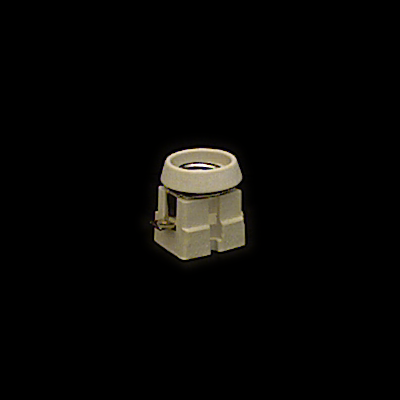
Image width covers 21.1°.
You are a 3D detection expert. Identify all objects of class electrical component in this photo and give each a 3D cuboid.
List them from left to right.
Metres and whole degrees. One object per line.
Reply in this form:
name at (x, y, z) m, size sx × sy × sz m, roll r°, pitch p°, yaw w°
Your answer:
electrical component at (0.000, 0.000, 0.645) m, size 0.067 × 0.056 × 0.047 m, roll -13°, pitch 24°, yaw -32°
